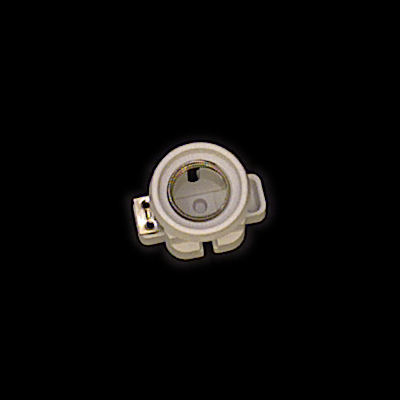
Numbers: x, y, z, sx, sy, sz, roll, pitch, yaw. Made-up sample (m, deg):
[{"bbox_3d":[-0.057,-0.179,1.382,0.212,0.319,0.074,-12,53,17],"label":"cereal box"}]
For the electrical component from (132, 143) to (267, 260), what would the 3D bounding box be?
[{"bbox_3d":[0.000,0.000,0.628,0.078,0.058,0.056,-12,-16,-4],"label":"electrical component"}]
